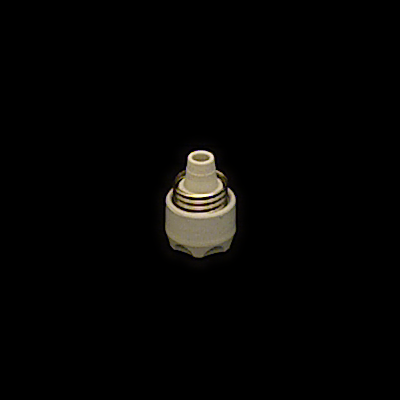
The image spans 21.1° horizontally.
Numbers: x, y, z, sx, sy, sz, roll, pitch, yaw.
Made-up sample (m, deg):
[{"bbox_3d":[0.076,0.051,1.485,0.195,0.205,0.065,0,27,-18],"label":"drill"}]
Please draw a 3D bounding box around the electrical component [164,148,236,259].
[{"bbox_3d":[0.000,0.000,0.640,0.043,0.063,0.043,0,34,0],"label":"electrical component"}]
